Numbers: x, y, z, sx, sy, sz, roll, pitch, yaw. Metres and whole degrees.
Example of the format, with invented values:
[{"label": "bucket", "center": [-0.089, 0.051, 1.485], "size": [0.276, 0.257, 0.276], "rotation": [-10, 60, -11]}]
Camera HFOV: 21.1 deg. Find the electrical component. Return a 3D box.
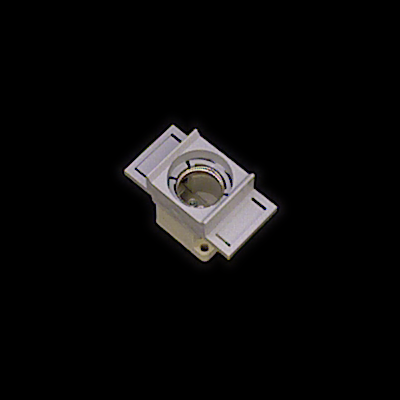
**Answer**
[{"label": "electrical component", "center": [0.000, 0.000, 0.625], "size": [0.080, 0.042, 0.063], "rotation": [39, -20, 17]}]
